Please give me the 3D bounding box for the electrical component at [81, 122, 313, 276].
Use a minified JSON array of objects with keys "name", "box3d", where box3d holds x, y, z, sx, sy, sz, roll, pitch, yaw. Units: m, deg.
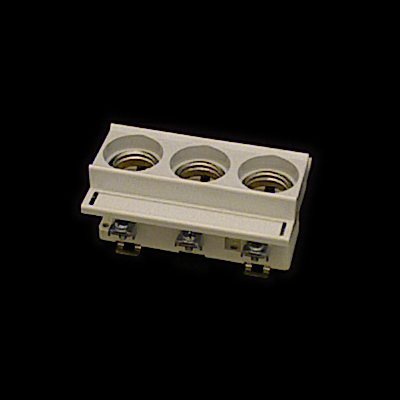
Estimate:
[{"name":"electrical component","box3d":[0.000,0.000,0.643,0.121,0.064,0.078,9,42,10]}]
